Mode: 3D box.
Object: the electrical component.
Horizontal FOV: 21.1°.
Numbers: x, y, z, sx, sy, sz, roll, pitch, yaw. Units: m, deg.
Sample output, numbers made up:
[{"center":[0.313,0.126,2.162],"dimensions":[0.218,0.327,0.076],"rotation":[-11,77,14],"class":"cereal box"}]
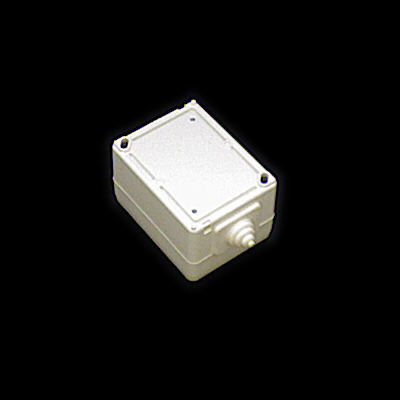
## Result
[{"center":[0.000,0.001,0.625],"dimensions":[0.061,0.096,0.061],"rotation":[-30,-32,-23],"class":"electrical component"}]
